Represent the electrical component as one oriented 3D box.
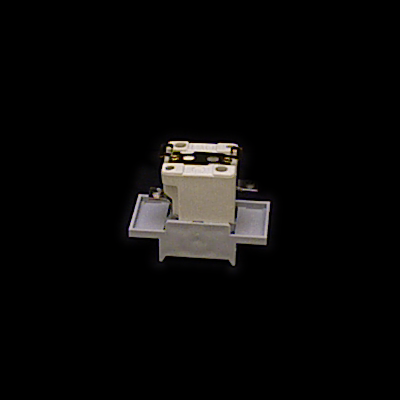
[{"bbox_3d":[0.000,0.000,0.633,0.081,0.064,0.041,3,32,3],"label":"electrical component"}]
